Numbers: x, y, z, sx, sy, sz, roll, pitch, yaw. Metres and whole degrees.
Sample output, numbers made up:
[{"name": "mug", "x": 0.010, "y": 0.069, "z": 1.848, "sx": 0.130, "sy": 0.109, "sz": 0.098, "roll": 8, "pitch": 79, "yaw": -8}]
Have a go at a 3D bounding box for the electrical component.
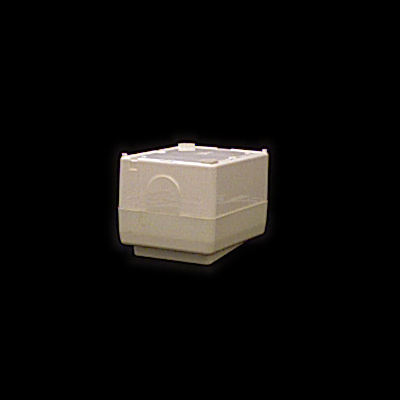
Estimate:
[{"name": "electrical component", "x": 0.000, "y": 0.000, "z": 0.645, "sx": 0.061, "sy": 0.061, "sz": 0.096, "roll": 6, "pitch": 11, "yaw": 26}]
